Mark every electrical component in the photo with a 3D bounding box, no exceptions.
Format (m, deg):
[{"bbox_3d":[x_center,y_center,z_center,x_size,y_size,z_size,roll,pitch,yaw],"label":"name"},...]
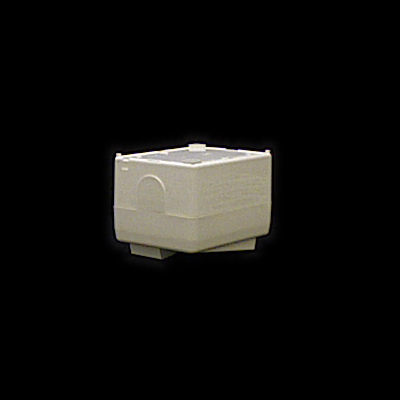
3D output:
[{"bbox_3d":[0.000,0.000,0.652,0.061,0.061,0.096,8,13,37],"label":"electrical component"}]
